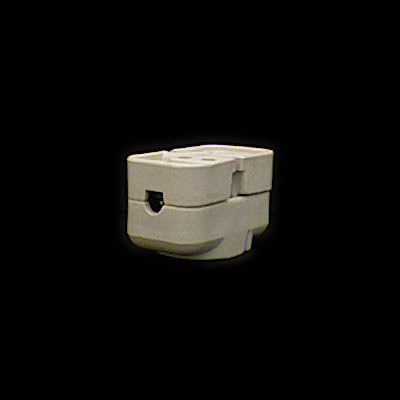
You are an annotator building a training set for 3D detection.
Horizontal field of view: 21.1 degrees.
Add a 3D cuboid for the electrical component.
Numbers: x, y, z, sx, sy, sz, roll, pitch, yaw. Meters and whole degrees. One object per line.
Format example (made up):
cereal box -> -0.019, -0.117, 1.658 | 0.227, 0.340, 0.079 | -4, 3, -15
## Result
electrical component -> 0.000, 0.000, 0.651 | 0.053, 0.060, 0.095 | 9, 13, 34
